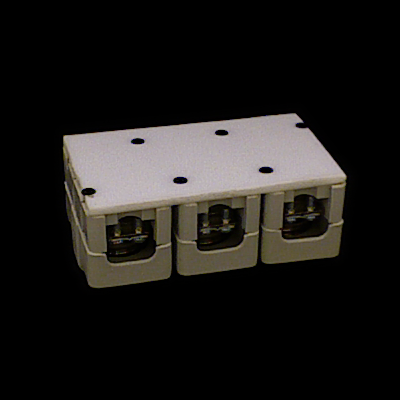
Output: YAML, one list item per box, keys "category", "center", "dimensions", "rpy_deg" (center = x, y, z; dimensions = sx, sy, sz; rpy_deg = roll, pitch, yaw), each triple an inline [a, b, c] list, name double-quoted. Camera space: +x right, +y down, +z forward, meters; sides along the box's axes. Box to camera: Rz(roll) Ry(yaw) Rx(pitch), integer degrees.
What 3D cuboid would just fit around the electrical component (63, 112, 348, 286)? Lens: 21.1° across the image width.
- category: "electrical component"
  center: [0.000, 0.000, 0.643]
  dimensions: [0.150, 0.063, 0.087]
  rpy_deg: [-7, 32, -13]
